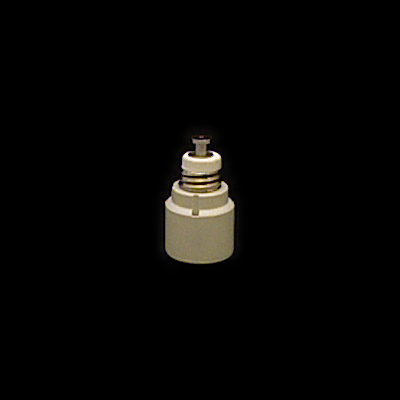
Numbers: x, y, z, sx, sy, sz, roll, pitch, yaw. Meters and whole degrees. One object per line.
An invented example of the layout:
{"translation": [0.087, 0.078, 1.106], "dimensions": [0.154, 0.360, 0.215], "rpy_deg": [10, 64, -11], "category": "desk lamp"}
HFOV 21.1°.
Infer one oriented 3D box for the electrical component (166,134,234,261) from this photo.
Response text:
{"translation": [0.000, 0.000, 0.637], "dimensions": [0.040, 0.079, 0.039], "rpy_deg": [1, 22, 0], "category": "electrical component"}
